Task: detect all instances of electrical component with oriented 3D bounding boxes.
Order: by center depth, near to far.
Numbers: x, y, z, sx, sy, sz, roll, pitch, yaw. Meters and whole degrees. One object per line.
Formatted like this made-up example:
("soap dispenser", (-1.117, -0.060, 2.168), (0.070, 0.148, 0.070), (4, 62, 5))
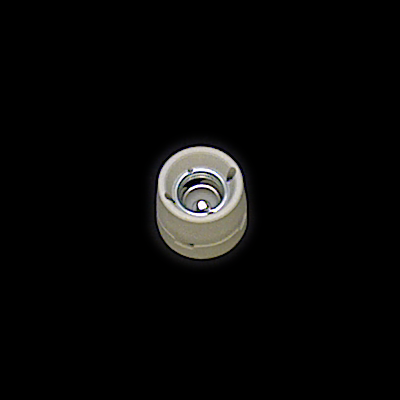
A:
("electrical component", (0.000, 0.000, 0.633), (0.055, 0.056, 0.047), (0, -27, 1))
